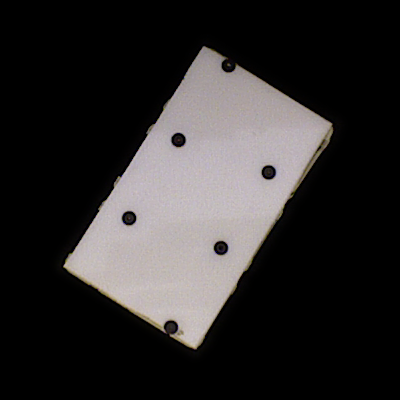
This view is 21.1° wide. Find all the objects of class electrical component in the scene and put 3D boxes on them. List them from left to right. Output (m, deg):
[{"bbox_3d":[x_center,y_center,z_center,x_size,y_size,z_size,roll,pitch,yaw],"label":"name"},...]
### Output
[{"bbox_3d":[0.000,0.000,0.631,0.089,0.150,0.061,32,-5,3],"label":"electrical component"}]
